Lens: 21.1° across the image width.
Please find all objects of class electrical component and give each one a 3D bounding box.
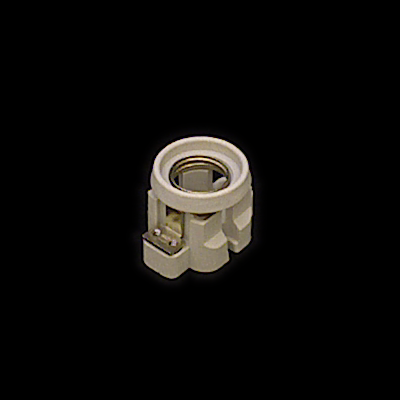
[{"bbox_3d":[0.000,0.000,0.630,0.057,0.057,0.078,30,50,28],"label":"electrical component"}]
